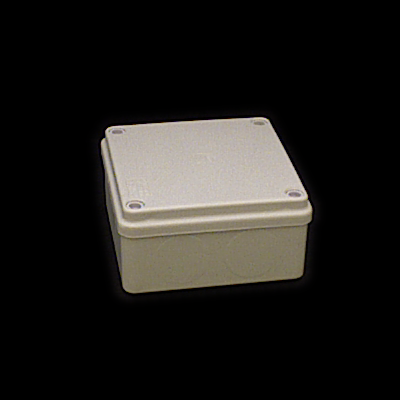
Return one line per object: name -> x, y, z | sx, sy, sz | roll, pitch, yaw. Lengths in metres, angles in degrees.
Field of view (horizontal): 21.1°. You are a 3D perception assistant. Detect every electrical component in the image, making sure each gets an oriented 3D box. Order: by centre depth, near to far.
electrical component -> 0.000, 0.000, 0.637 | 0.109, 0.057, 0.107 | -4, 32, -9
